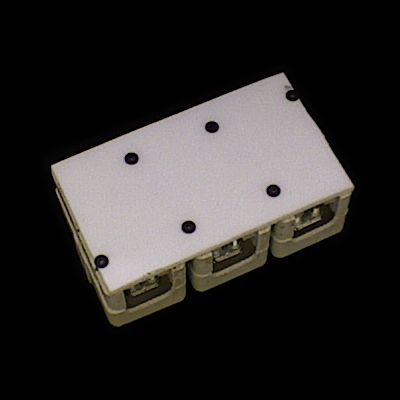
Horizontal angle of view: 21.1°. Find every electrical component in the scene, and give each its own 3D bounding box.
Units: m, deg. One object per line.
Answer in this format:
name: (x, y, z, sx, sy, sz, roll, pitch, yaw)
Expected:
electrical component: (0.000, 0.000, 0.629, 0.150, 0.089, 0.062, -22, -25, -11)
